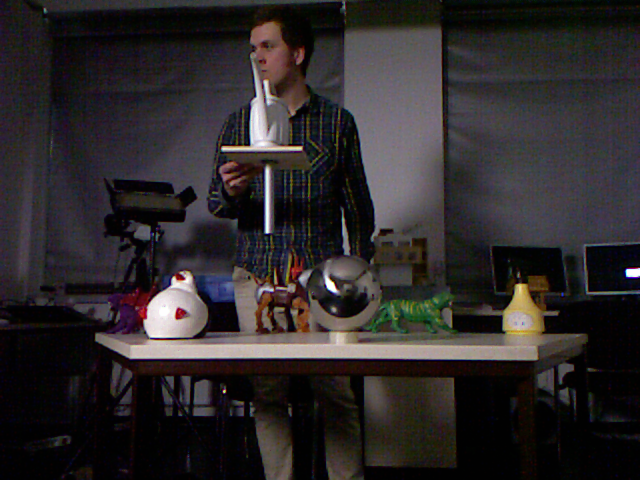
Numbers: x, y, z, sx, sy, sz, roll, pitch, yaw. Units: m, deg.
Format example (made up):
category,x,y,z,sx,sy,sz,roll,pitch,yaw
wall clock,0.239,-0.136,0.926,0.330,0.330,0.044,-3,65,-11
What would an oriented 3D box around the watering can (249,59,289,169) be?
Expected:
category,x,y,z,sx,sy,sz,roll,pitch,yaw
watering can,-0.142,-0.311,1.351,0.104,0.226,0.345,0,-8,7
